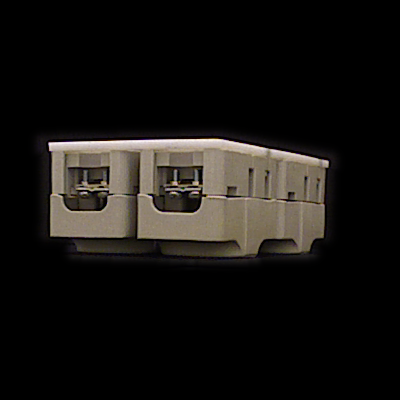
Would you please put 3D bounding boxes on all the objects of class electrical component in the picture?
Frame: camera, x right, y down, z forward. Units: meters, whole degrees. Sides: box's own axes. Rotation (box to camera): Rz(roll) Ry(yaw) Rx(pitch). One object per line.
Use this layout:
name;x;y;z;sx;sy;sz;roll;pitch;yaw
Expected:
electrical component;0.000;0.000;0.650;0.105;0.060;0.186;1;-1;25
